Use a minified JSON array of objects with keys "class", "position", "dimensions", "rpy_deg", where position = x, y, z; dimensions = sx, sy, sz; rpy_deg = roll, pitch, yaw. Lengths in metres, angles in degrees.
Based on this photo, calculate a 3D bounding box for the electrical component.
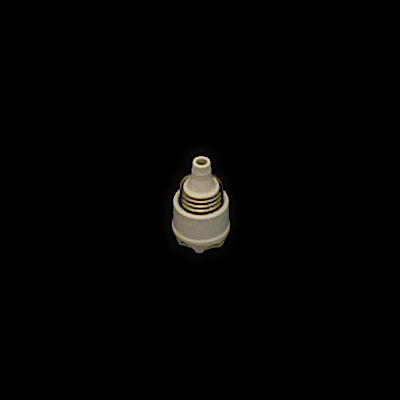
[{"class":"electrical component","position":[0.000,0.000,0.642],"dimensions":[0.035,0.062,0.035],"rpy_deg":[1,41,0]}]
